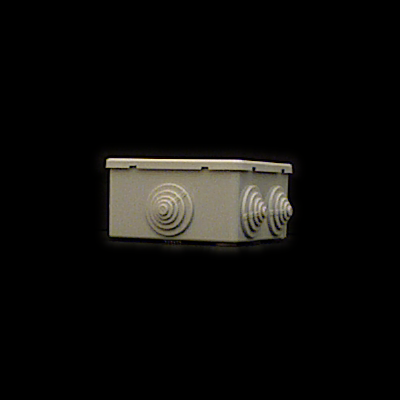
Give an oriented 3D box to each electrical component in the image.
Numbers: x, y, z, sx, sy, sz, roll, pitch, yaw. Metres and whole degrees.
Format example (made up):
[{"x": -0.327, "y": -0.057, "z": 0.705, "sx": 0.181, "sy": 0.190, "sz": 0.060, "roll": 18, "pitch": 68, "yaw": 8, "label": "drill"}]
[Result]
[{"x": 0.000, "y": 0.000, "z": 0.656, "sx": 0.099, "sy": 0.048, "sz": 0.100, "roll": 2, "pitch": 1, "yaw": 25, "label": "electrical component"}]
